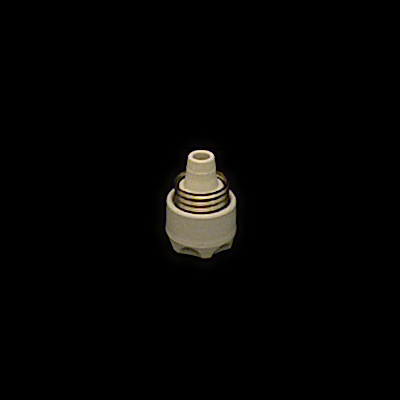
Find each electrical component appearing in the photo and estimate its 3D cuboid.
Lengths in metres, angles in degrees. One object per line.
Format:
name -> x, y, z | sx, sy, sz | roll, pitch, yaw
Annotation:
electrical component -> 0.000, 0.000, 0.642 | 0.043, 0.063, 0.043 | 1, 31, 0
